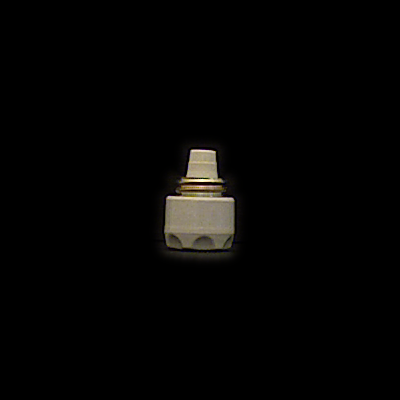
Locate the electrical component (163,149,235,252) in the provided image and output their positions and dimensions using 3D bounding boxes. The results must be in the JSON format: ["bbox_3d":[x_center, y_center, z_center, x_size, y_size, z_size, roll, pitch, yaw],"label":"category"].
[{"bbox_3d":[0.000,0.000,0.656,0.043,0.062,0.043,3,2,0],"label":"electrical component"}]
